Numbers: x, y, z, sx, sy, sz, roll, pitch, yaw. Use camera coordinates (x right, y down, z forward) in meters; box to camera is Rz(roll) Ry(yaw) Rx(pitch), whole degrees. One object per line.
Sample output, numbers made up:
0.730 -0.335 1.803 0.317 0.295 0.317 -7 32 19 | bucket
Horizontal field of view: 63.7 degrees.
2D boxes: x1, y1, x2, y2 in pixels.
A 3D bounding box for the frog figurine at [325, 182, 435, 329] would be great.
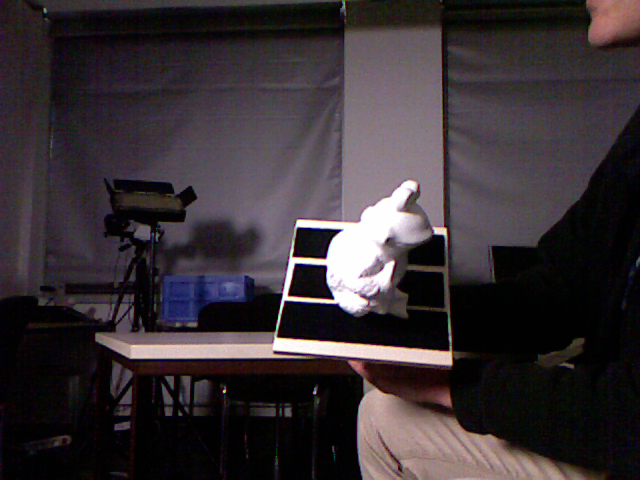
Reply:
0.062 0.010 0.578 0.123 0.141 0.156 11 -36 13 | frog figurine
